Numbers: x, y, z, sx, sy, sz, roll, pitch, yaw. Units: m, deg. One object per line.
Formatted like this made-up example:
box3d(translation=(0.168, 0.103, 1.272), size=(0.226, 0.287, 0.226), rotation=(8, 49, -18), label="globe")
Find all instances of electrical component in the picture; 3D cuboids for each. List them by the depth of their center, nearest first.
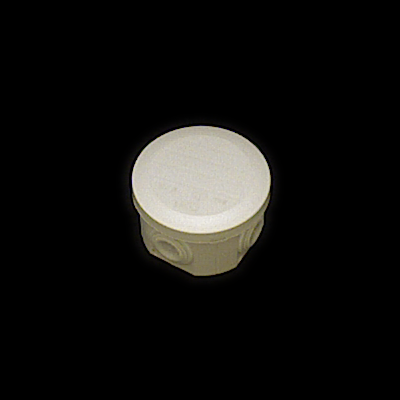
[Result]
box3d(translation=(0.000, 0.000, 0.631), size=(0.080, 0.080, 0.051), rotation=(0, -38, 0), label="electrical component")
